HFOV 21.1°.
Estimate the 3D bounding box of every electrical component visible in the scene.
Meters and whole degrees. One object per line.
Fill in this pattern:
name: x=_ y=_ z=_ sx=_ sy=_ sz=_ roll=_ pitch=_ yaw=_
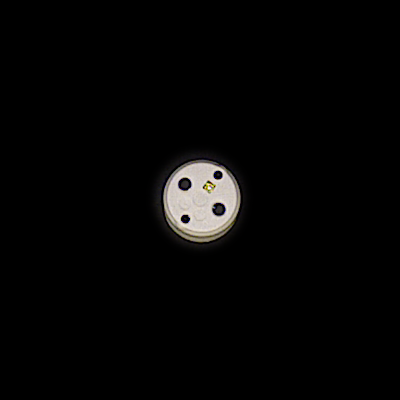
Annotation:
electrical component: x=0.000 y=0.000 z=0.629 sx=0.045 sy=0.045 sz=0.055 roll=0 pitch=-6 yaw=0
